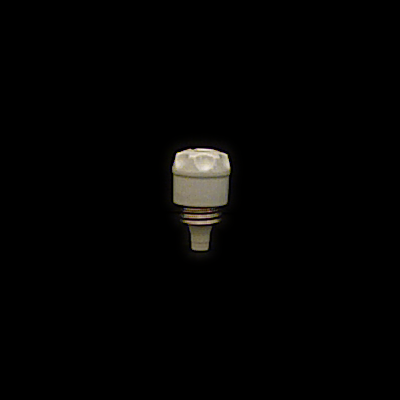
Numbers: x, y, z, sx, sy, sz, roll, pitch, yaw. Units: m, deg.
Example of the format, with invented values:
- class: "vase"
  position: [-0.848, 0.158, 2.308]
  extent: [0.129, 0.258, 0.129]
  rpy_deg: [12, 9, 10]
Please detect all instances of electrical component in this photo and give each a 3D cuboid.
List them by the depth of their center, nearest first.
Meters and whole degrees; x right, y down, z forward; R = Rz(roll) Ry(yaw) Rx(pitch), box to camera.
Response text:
- class: "electrical component"
  position: [0.000, 0.000, 0.654]
  extent: [0.035, 0.062, 0.035]
  rpy_deg: [1, 12, 0]
